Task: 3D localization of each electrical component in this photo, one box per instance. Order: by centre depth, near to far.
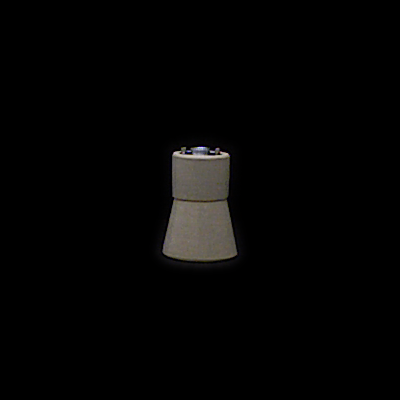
[{"bbox_3d":[0.000,0.000,0.645,0.044,0.066,0.044,1,10,0],"label":"electrical component"}]
